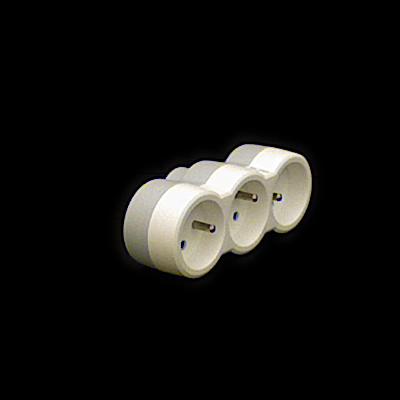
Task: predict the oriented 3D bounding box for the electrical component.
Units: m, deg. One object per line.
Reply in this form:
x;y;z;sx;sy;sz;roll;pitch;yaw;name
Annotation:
0.000;0.000;0.650;0.072;0.053;0.138;16;26;36;electrical component
